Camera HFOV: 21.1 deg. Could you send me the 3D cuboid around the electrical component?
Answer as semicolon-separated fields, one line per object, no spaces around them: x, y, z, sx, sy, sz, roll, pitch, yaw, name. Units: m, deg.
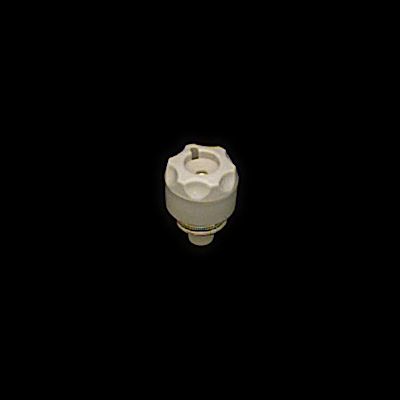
0.000;0.000;0.637;0.043;0.062;0.043;1;43;0;electrical component
